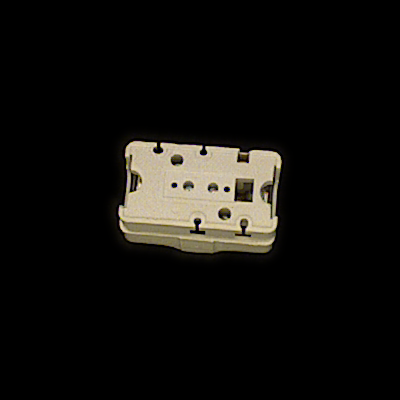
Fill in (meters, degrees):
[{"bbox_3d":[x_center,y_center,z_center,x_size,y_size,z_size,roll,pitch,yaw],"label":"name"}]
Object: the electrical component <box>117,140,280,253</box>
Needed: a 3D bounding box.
[{"bbox_3d":[0.000,0.000,0.636,0.089,0.050,0.055,5,-17,1],"label":"electrical component"}]
